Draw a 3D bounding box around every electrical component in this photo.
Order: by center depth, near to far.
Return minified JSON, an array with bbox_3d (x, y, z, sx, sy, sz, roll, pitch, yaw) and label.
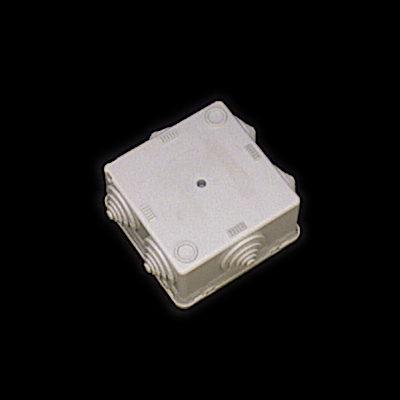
[{"bbox_3d":[0.000,0.000,0.632,0.100,0.099,0.048,-31,-23,-15],"label":"electrical component"}]
